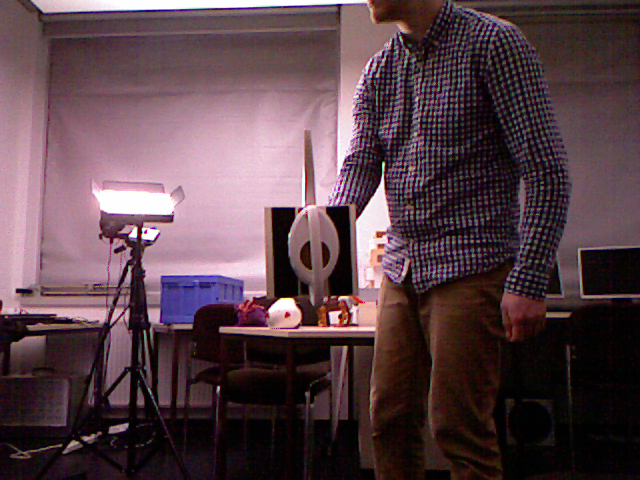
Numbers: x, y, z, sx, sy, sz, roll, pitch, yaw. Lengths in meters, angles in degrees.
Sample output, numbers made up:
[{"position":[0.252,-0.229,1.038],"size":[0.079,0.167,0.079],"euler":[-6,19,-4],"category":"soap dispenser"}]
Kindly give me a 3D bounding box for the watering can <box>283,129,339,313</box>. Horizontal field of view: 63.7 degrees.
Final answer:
[{"position":[-0.020,-0.032,1.041],"size":[0.104,0.349,0.224],"euler":[-3,-3,-8],"category":"watering can"}]
